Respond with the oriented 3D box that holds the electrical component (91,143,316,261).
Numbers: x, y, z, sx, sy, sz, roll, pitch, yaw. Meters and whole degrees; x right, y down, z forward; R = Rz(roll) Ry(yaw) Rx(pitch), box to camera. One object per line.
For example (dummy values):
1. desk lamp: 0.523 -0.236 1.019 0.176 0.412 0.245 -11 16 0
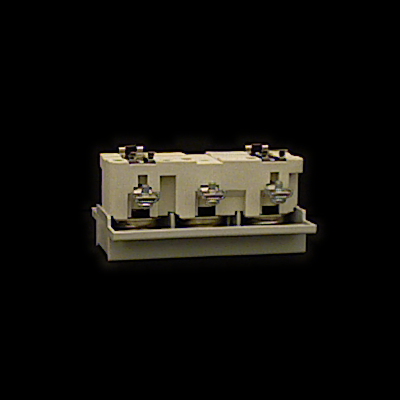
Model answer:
1. electrical component: 0.000 0.000 0.654 0.122 0.063 0.077 -1 11 -15
